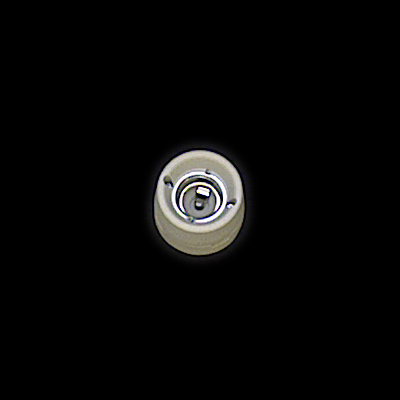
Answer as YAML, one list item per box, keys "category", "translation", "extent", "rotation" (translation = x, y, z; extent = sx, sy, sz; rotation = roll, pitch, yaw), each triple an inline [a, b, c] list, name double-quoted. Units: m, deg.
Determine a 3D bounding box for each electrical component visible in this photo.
- category: "electrical component"
  translation: [0.000, 0.000, 0.633]
  extent: [0.055, 0.056, 0.047]
  rotation: [0, -16, -1]
